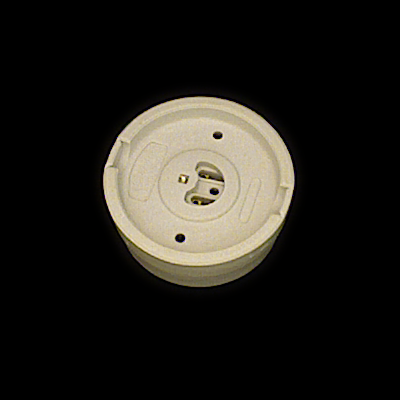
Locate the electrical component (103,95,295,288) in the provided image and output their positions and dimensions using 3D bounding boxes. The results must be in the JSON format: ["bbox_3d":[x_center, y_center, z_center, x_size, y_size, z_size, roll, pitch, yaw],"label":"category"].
[{"bbox_3d":[0.000,0.000,0.633,0.108,0.108,0.060,0,-26,-1],"label":"electrical component"}]
